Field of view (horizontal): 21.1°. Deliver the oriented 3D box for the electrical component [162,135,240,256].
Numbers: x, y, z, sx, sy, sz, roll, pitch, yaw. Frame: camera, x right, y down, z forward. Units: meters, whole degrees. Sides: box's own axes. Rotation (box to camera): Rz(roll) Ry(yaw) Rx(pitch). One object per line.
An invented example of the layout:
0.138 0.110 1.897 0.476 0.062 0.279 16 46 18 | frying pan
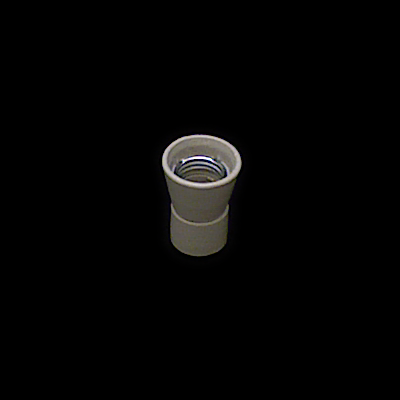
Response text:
0.000 0.000 0.628 0.044 0.066 0.044 1 42 -1 | electrical component
